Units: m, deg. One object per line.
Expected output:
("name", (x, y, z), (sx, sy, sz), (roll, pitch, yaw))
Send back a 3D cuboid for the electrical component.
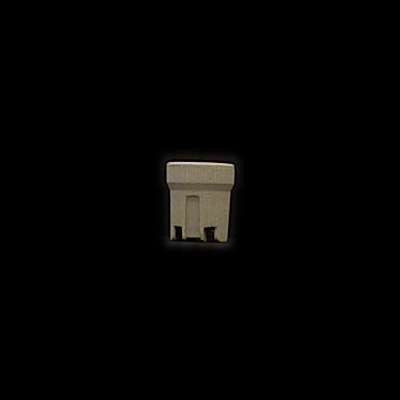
("electrical component", (0.000, 0.000, 0.647), (0.040, 0.046, 0.040), (1, 1, 1))
